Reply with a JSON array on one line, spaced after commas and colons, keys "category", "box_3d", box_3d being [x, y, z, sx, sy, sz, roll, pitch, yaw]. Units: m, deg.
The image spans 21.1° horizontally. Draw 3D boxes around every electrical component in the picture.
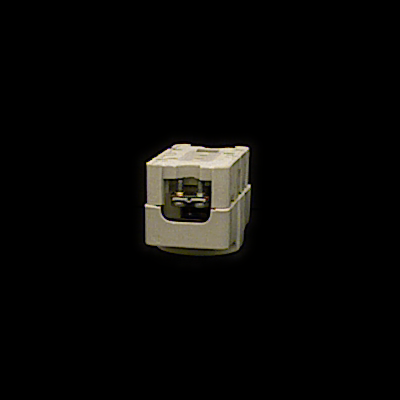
[{"category": "electrical component", "box_3d": [0.000, 0.000, 0.651, 0.050, 0.056, 0.089, 3, 11, 10]}]
